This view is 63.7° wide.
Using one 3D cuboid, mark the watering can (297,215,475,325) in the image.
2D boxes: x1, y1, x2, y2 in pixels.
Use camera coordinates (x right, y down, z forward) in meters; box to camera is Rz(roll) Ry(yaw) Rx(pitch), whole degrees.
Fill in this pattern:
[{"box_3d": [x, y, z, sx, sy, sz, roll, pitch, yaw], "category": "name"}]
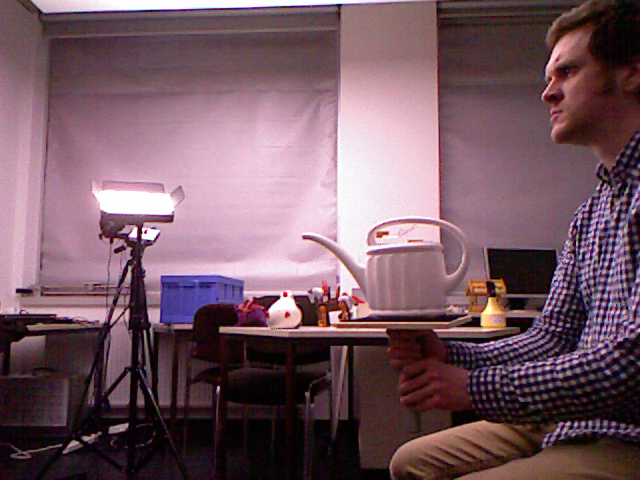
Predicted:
[{"box_3d": [0.123, 0.067, 1.003, 0.347, 0.225, 0.104, -3, -2, 20], "category": "watering can"}]
